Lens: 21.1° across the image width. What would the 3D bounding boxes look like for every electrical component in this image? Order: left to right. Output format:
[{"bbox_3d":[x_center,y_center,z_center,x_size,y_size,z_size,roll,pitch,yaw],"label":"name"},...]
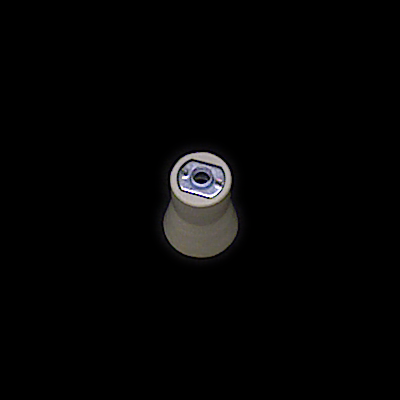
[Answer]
[{"bbox_3d":[0.000,0.000,0.624,0.044,0.044,0.065,0,-26,0],"label":"electrical component"}]
